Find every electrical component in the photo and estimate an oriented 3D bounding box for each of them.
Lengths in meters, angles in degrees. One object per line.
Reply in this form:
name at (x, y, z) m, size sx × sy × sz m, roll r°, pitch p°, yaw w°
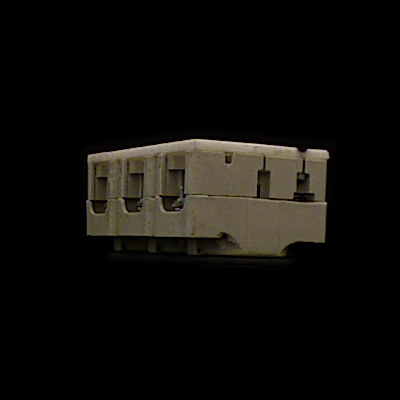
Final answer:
electrical component at (0.000, 0.000, 0.658) m, size 0.090 × 0.062 × 0.149 m, roll 2°, pitch -1°, yaw -28°
